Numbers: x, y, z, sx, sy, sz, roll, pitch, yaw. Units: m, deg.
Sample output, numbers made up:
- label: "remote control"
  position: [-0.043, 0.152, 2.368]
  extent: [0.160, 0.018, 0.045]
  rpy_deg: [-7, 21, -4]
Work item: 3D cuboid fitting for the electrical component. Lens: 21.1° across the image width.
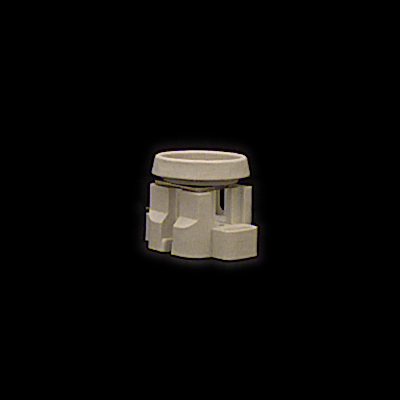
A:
- label: "electrical component"
  position: [0.000, 0.000, 0.645]
  extent: [0.058, 0.057, 0.078]
  rpy_deg: [-9, 15, -42]
